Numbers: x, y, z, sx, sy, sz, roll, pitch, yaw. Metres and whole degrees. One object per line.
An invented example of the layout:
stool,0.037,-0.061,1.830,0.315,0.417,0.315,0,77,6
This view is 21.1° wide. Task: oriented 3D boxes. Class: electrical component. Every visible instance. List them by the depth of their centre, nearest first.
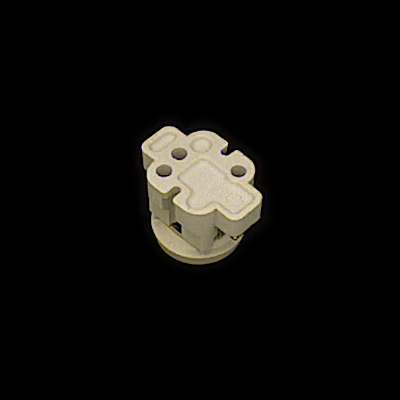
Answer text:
electrical component,0.000,0.000,0.637,0.078,0.057,0.058,38,61,23
